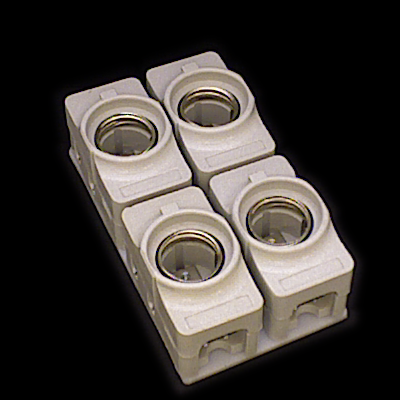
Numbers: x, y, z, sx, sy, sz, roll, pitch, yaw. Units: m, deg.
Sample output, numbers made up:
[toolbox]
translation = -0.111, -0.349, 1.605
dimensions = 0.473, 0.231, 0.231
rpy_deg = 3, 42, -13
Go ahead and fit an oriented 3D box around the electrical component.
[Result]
[electrical component]
translation = 0.000, 0.000, 0.627
dimensions = 0.106, 0.185, 0.060
rpy_deg = -20, -35, -15
